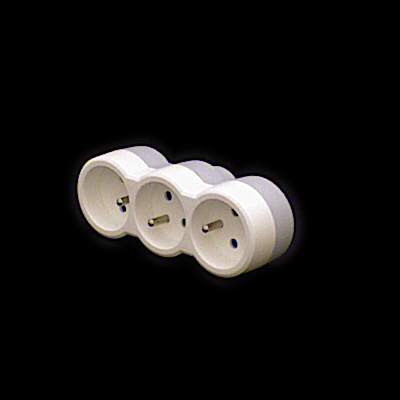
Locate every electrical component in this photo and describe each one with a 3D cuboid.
[{"bbox_3d":[0.000,0.000,0.642,0.137,0.053,0.073,16,24,36],"label":"electrical component"}]
